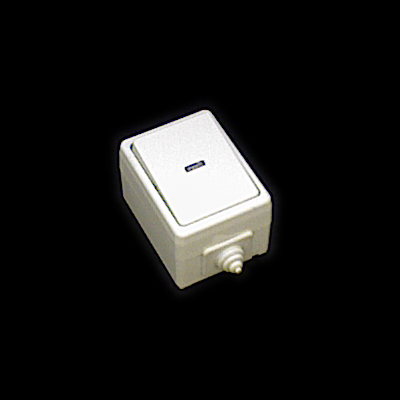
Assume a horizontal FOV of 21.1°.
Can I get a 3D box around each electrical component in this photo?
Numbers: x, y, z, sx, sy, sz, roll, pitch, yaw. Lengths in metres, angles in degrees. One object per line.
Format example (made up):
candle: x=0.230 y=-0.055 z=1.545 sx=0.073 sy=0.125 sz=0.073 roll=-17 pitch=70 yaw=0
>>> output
electrical component: x=0.000 y=0.000 z=0.626 sx=0.062 sy=0.096 sz=0.061 roll=-22 pitch=-34 yaw=-17
